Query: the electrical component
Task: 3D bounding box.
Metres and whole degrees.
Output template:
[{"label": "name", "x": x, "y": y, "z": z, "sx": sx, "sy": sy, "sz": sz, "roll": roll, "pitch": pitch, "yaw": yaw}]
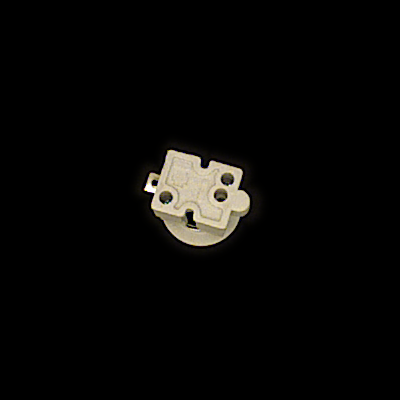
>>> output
[{"label": "electrical component", "x": 0.000, "y": 0.000, "z": 0.638, "sx": 0.066, "sy": 0.048, "sz": 0.055, "roll": 16, "pitch": -14, "yaw": 5}]
